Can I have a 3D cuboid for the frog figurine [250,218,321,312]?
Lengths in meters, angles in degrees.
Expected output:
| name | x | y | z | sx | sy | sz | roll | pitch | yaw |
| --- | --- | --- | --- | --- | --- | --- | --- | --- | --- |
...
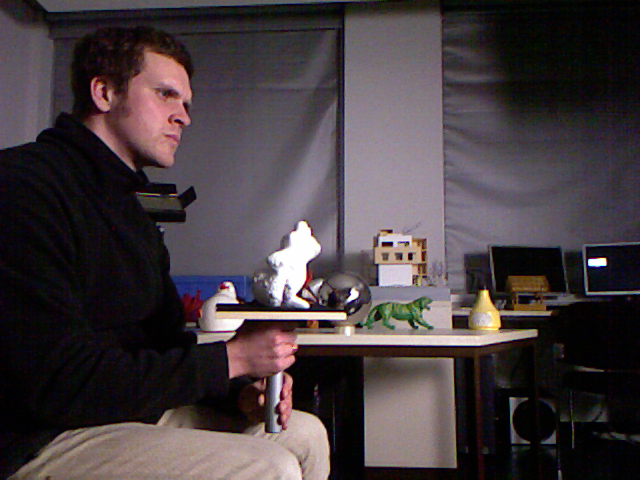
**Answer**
| name | x | y | z | sx | sy | sz | roll | pitch | yaw |
| --- | --- | --- | --- | --- | --- | --- | --- | --- | --- |
| frog figurine | -0.061 | 0.040 | 0.895 | 0.123 | 0.160 | 0.137 | 1 | -2 | 9 |
